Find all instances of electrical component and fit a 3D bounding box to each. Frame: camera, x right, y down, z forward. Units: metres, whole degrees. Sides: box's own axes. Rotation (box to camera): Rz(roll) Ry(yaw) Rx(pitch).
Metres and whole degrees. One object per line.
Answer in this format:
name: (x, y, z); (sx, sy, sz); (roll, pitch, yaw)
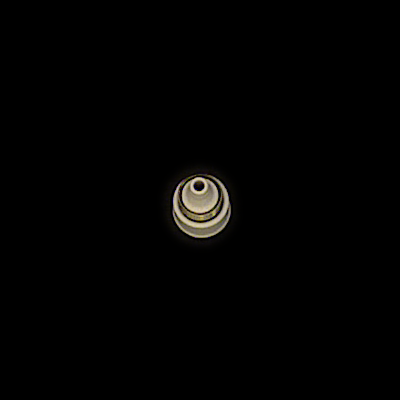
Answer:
electrical component: (0.000, 0.000, 0.636); (0.035, 0.035, 0.061); (0, -17, 2)
